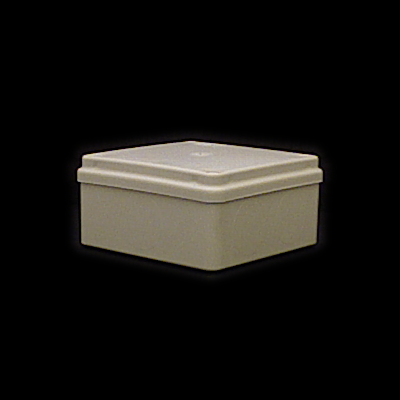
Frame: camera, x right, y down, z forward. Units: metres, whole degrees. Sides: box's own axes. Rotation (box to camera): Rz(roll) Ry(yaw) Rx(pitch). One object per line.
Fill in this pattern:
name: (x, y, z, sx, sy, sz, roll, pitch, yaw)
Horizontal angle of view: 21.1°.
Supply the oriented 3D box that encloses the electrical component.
electrical component: (0.000, 0.000, 0.643, 0.108, 0.056, 0.108, 9, 14, 38)
